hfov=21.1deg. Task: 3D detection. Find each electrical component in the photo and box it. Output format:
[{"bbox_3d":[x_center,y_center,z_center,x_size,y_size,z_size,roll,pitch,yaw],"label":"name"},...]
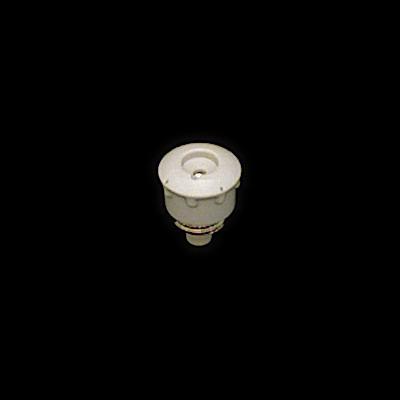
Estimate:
[{"bbox_3d":[0.000,0.000,0.637,0.048,0.062,0.047,0,43,0],"label":"electrical component"}]
